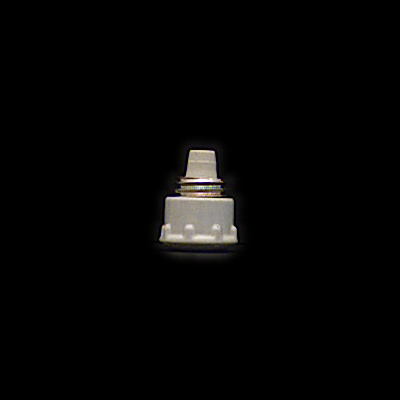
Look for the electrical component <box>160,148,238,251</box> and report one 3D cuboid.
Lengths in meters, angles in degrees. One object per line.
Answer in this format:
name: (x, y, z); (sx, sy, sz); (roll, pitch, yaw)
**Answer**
electrical component: (0.000, 0.000, 0.657); (0.048, 0.062, 0.048); (2, 2, 0)
